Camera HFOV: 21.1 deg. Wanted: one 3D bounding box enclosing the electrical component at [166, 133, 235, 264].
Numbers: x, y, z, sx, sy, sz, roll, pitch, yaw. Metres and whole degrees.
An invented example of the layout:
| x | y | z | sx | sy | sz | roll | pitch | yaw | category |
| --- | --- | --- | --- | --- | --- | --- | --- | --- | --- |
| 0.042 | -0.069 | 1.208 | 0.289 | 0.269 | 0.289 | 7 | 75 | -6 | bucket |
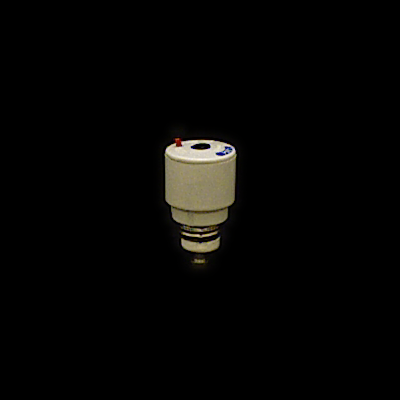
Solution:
| x | y | z | sx | sy | sz | roll | pitch | yaw | category |
| --- | --- | --- | --- | --- | --- | --- | --- | --- | --- |
| 0.000 | 0.000 | 0.636 | 0.040 | 0.079 | 0.039 | 0 | 21 | 0 | electrical component |
